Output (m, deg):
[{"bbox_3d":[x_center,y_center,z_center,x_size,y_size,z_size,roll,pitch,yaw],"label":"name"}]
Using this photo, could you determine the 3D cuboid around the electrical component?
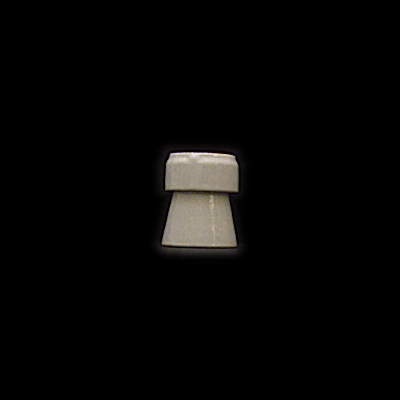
[{"bbox_3d":[0.000,0.000,0.649,0.045,0.055,0.044,1,2,0],"label":"electrical component"}]
